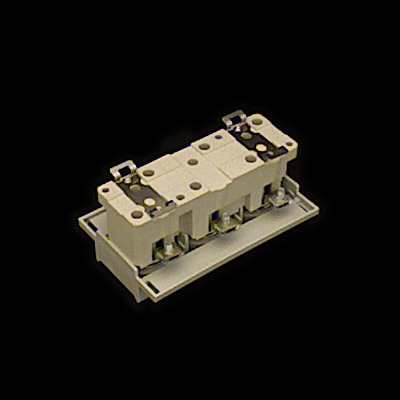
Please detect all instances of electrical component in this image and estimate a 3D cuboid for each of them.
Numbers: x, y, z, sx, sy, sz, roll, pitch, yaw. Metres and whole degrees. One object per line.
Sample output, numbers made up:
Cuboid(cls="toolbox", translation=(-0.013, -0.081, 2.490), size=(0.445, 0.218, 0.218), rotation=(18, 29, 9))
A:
Cuboid(cls="electrical component", translation=(0.000, 0.000, 0.636), size=(0.121, 0.063, 0.078), rotation=(-27, 50, -27))
